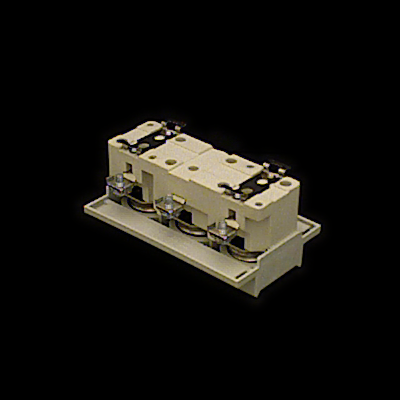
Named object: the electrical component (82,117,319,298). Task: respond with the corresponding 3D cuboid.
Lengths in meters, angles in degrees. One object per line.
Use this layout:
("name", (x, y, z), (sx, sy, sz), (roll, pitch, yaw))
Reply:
("electrical component", (0.000, 0.000, 0.644), (0.120, 0.064, 0.078), (25, 39, 33))
